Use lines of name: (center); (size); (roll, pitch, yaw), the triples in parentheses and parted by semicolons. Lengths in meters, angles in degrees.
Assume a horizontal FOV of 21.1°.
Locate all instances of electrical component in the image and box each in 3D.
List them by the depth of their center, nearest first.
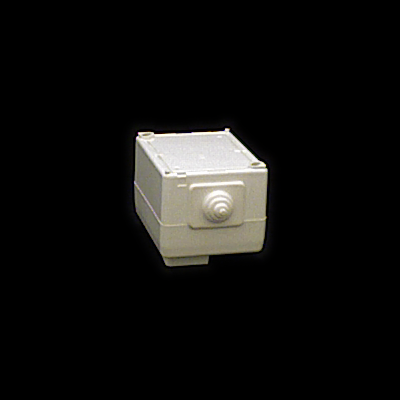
electrical component: (0.000, 0.000, 0.632); (0.061, 0.061, 0.095); (-4, 21, -14)
